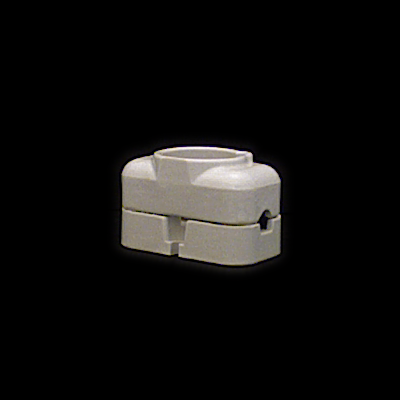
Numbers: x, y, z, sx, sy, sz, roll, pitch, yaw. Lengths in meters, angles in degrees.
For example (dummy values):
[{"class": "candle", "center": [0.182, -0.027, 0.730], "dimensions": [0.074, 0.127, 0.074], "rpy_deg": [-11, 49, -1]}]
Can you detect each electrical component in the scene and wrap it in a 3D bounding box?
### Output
[{"class": "electrical component", "center": [0.000, 0.000, 0.652], "dimensions": [0.094, 0.060, 0.054], "rpy_deg": [9, 15, 33]}]
